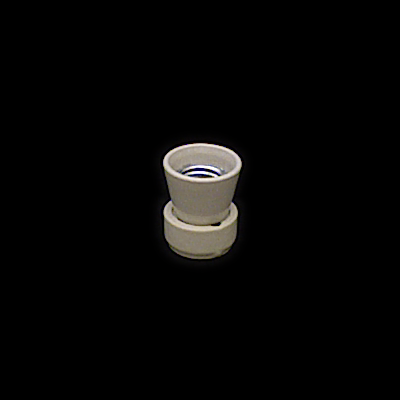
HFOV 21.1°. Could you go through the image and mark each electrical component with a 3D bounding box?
[{"bbox_3d":[0.000,0.000,0.637,0.045,0.056,0.044,1,31,-1],"label":"electrical component"}]
